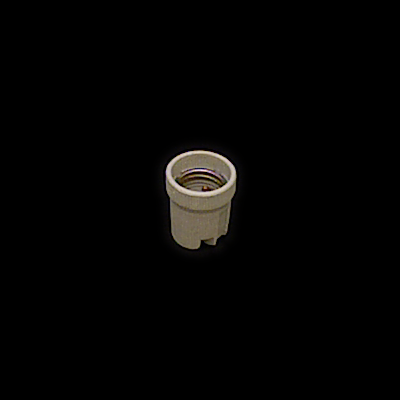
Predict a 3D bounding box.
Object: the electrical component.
[{"bbox_3d":[0.000,0.000,0.632,0.040,0.047,0.039,1,42,0],"label":"electrical component"}]
